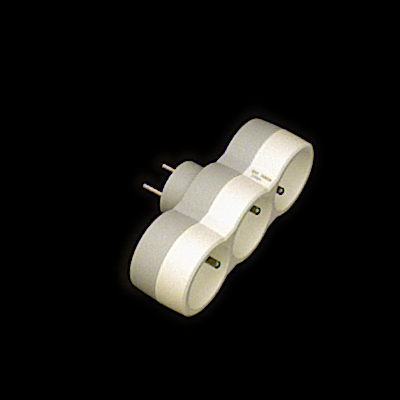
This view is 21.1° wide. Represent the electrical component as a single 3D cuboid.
[{"bbox_3d":[0.000,0.000,0.640,0.073,0.139,0.052,29,-32,22],"label":"electrical component"}]
